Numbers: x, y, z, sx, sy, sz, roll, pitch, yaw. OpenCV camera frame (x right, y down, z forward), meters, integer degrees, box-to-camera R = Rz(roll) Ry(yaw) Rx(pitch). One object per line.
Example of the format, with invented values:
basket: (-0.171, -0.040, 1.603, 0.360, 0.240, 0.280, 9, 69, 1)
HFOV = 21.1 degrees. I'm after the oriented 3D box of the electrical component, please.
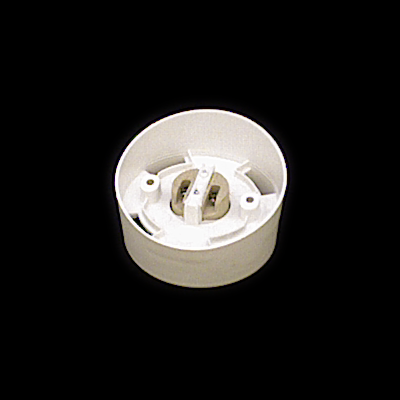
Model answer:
electrical component: (0.000, 0.000, 0.630, 0.099, 0.065, 0.097, 0, 41, 0)
